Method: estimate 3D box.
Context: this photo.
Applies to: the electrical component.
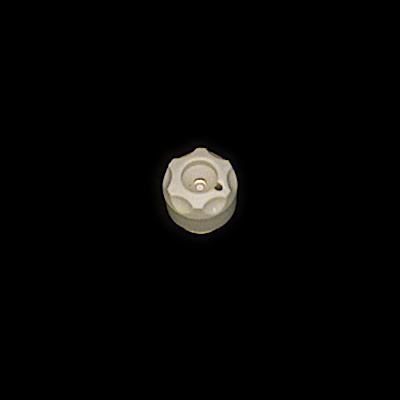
[{"bbox_3d":[0.000,0.000,0.634,0.043,0.043,0.062,0,-27,1],"label":"electrical component"}]
